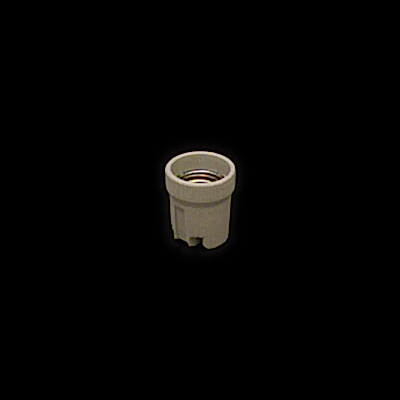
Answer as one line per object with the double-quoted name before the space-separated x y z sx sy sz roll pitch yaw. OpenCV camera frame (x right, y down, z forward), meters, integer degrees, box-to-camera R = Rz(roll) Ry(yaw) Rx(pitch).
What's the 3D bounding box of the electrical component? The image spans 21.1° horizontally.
"electrical component" 0.000 0.000 0.634 0.040 0.047 0.039 1 32 0
